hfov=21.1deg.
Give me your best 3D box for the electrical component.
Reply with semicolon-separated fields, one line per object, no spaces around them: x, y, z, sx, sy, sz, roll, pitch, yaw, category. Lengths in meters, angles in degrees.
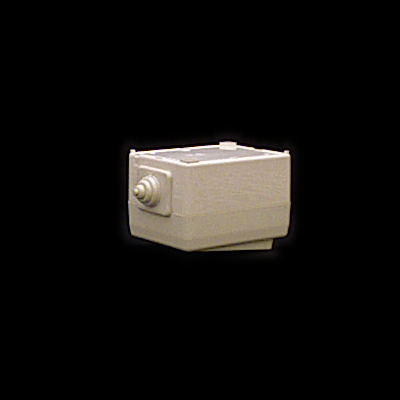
0.000;0.000;0.646;0.096;0.061;0.061;-8;14;-38;electrical component
